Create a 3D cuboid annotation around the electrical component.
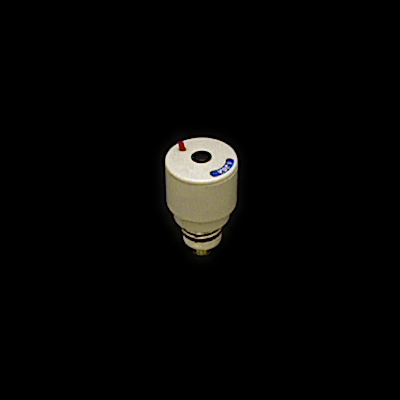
[{"bbox_3d":[0.000,0.000,0.626,0.040,0.079,0.039,0,41,0],"label":"electrical component"}]
